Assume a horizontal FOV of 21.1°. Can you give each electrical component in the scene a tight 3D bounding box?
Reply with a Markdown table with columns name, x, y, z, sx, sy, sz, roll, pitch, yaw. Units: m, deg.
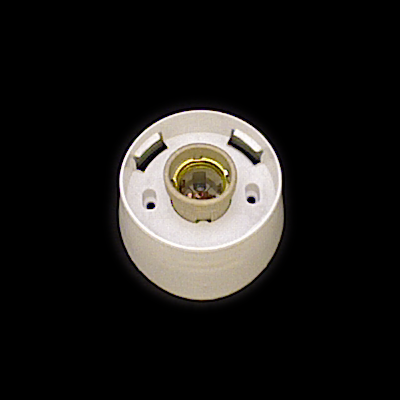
| name | x | y | z | sx | sy | sz | roll | pitch | yaw |
| --- | --- | --- | --- | --- | --- | --- | --- | --- | --- |
| electrical component | 0.000 | 0.000 | 0.625 | 0.099 | 0.099 | 0.064 | 0 | -27 | 0 |
